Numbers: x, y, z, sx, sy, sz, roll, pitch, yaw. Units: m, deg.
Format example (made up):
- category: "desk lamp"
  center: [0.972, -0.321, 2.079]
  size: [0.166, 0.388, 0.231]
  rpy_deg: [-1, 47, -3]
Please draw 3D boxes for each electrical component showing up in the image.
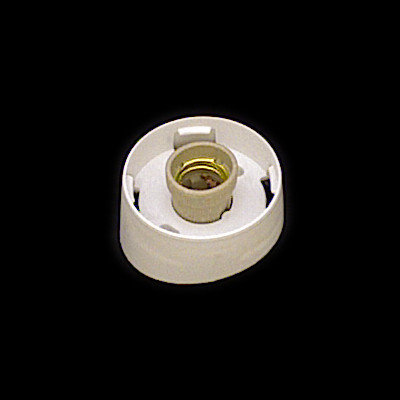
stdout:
- category: "electrical component"
  center: [0.000, 0.000, 0.627]
  size: [0.099, 0.098, 0.064]
  rpy_deg: [0, -38, 0]
